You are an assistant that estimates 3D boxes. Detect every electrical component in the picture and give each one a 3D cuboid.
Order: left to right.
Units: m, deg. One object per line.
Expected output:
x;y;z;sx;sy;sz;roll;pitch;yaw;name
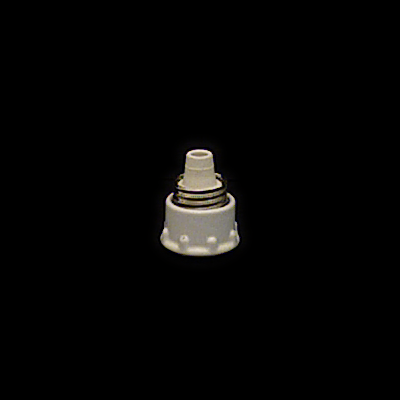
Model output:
0.000;0.000;0.644;0.048;0.063;0.047;0;22;1;electrical component
